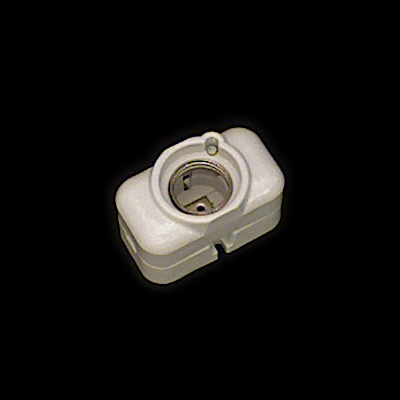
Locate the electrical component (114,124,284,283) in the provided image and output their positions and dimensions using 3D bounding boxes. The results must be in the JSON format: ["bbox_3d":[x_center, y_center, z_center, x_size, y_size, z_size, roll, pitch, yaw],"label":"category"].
[{"bbox_3d":[0.000,0.000,0.634,0.095,0.053,0.059,-27,-23,-13],"label":"electrical component"}]
